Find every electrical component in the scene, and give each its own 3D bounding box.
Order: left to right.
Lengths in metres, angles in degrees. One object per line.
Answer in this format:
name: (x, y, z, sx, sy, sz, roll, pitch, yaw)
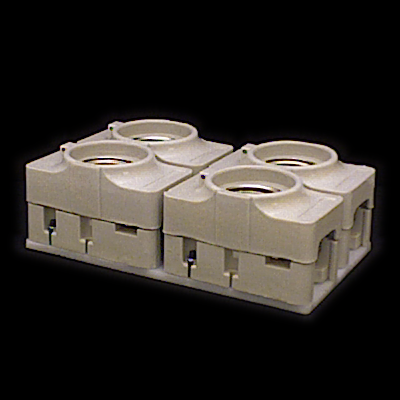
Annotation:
electrical component: (0.000, 0.000, 0.638, 0.185, 0.061, 0.105, 11, 23, 25)
